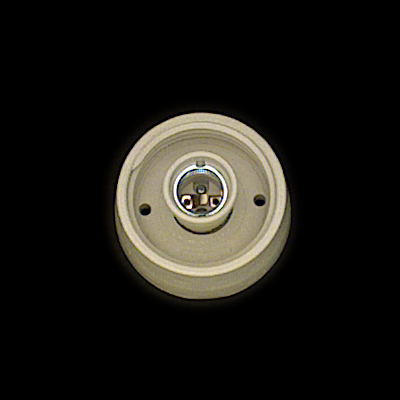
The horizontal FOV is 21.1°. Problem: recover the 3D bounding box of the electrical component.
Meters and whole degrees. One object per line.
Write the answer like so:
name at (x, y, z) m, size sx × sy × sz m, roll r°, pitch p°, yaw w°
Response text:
electrical component at (0.000, 0.000, 0.634) m, size 0.108 × 0.108 × 0.060 m, roll 0°, pitch -16°, yaw 0°
